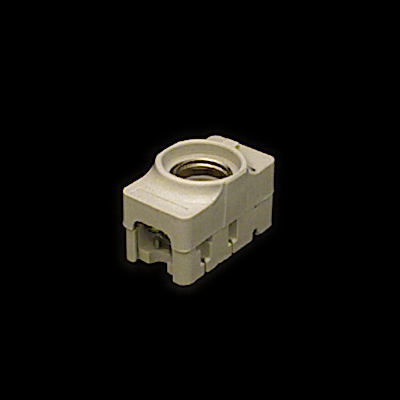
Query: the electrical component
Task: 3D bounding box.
[{"bbox_3d":[0.000,0.000,0.642,0.049,0.056,0.089,23,38,30],"label":"electrical component"}]
